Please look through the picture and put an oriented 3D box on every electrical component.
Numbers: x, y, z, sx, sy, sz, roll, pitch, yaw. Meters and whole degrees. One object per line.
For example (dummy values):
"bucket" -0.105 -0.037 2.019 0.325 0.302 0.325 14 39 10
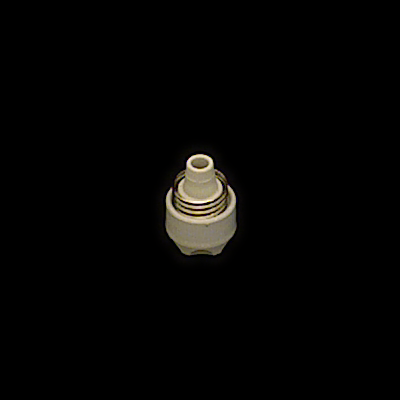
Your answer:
"electrical component" 0.000 0.000 0.637 0.043 0.062 0.043 0 43 1
